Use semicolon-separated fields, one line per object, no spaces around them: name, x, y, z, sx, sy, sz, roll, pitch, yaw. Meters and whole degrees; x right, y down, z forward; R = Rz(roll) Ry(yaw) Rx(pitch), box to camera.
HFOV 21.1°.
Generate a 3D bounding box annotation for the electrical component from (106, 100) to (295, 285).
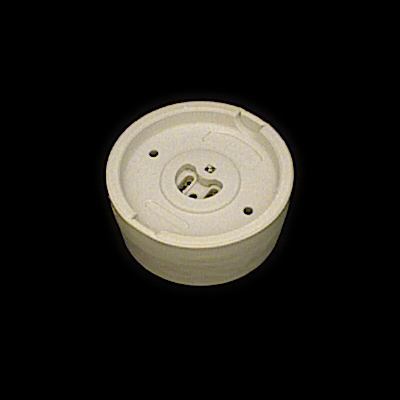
electrical component;0.000;0.000;0.638;0.108;0.107;0.061;0;-37;0
